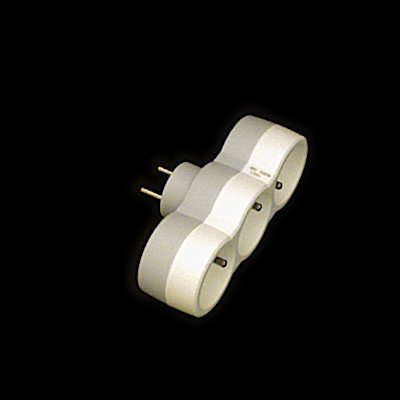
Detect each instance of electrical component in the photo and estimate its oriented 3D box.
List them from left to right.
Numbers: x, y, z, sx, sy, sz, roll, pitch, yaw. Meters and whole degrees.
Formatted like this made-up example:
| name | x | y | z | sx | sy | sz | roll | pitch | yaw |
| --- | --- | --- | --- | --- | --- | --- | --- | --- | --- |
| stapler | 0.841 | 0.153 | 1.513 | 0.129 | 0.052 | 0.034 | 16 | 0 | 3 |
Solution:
| name | x | y | z | sx | sy | sz | roll | pitch | yaw |
| --- | --- | --- | --- | --- | --- | --- | --- | --- | --- |
| electrical component | 0.000 | 0.000 | 0.640 | 0.073 | 0.138 | 0.052 | 25 | -33 | 19 |
